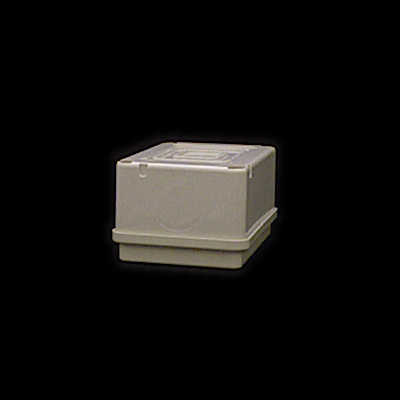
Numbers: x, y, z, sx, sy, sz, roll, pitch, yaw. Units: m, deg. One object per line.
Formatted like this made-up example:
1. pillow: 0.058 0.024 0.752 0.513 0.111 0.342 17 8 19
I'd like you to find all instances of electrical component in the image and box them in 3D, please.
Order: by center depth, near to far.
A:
1. electrical component: 0.000 0.000 0.645 0.078 0.057 0.112 3 10 13
